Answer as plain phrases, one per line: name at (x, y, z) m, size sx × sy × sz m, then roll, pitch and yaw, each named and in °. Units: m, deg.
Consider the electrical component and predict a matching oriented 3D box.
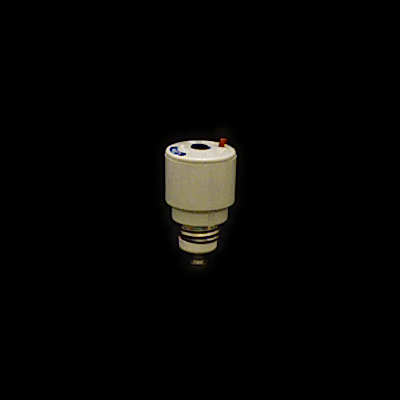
electrical component at (0.000, 0.000, 0.635) m, size 0.040 × 0.079 × 0.039 m, roll 1°, pitch 21°, yaw 0°
